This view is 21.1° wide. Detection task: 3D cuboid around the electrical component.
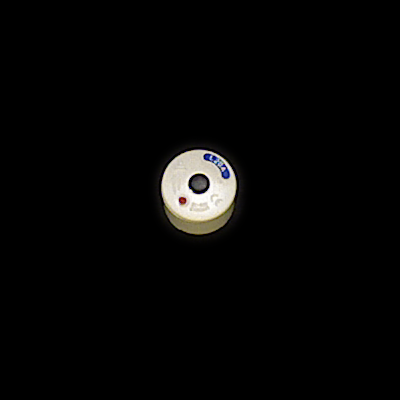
[{"bbox_3d":[0.000,0.000,0.617,0.040,0.040,0.078,0,-16,0],"label":"electrical component"}]
